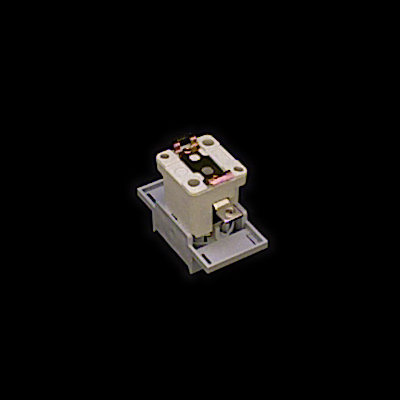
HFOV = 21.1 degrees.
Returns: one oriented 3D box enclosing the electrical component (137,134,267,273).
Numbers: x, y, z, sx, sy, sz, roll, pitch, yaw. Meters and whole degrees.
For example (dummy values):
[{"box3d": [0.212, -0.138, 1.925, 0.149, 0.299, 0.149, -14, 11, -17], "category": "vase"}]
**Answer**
[{"box3d": [0.000, 0.000, 0.630, 0.042, 0.064, 0.080, -23, 48, -24], "category": "electrical component"}]
